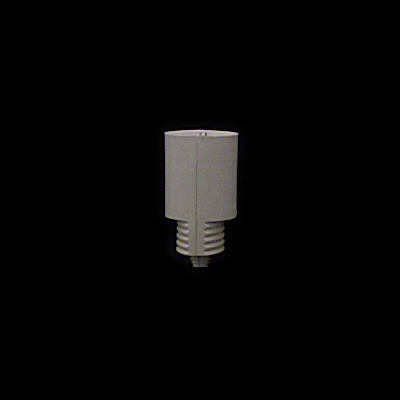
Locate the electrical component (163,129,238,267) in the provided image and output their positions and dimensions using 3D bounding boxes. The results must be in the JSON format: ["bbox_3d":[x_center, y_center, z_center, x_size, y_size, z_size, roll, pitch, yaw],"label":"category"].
[{"bbox_3d":[0.000,0.000,0.643,0.043,0.081,0.043,2,11,0],"label":"electrical component"}]
